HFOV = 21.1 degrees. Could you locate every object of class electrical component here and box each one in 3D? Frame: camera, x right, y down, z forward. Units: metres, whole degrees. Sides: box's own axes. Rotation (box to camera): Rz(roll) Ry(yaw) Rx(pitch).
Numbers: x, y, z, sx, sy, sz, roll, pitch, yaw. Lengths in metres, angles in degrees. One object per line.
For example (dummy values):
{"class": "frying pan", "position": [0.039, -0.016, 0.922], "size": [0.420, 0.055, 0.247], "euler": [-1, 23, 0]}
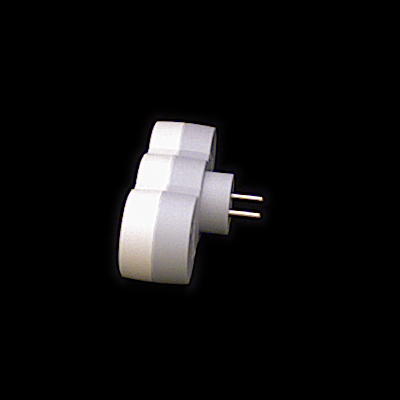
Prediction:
{"class": "electrical component", "position": [0.000, 0.000, 0.639], "size": [0.074, 0.053, 0.136], "euler": [6, 31, 4]}
